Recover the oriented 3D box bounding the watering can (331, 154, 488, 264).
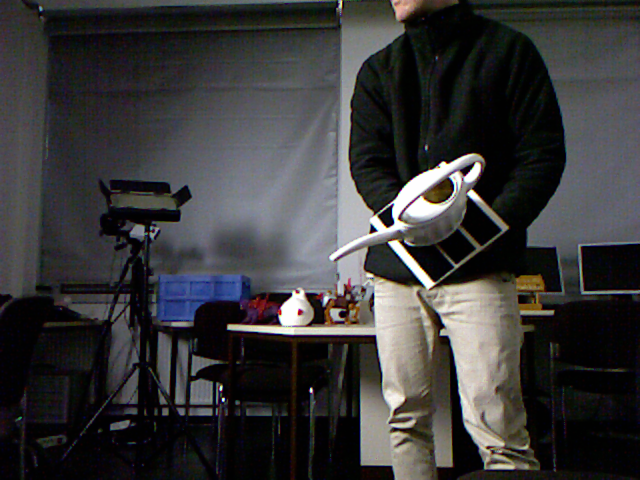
[{"bbox_3d":[0.183,-0.043,1.017,0.348,0.106,0.222,-35,-25,2],"label":"watering can"}]
